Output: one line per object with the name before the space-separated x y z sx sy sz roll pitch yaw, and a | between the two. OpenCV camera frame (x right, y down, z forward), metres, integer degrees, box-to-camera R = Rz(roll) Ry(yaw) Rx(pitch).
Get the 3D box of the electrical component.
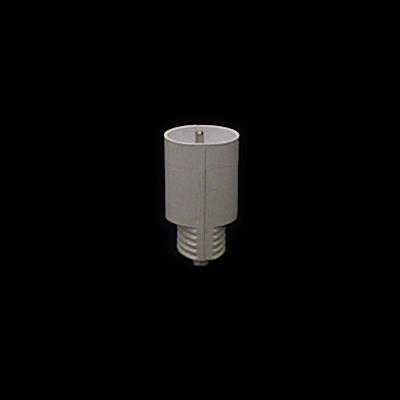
electrical component | 0.000 0.000 0.636 0.043 0.082 0.042 1 20 0
